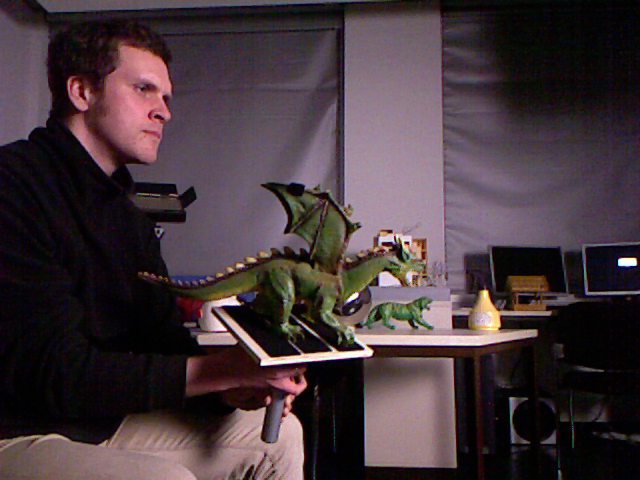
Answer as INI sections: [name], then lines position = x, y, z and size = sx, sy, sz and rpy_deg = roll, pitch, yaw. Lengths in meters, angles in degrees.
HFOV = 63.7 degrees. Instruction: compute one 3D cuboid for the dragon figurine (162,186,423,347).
[dragon figurine]
position = -0.042, 0.028, 0.820
size = 0.411, 0.240, 0.124
rpy_deg = 12, 16, -1
